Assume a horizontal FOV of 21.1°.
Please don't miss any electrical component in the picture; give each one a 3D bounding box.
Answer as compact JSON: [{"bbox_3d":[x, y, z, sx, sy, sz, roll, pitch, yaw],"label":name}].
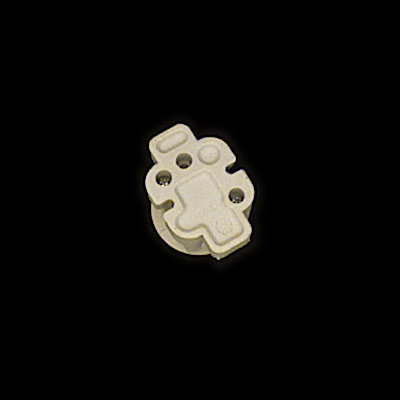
[{"bbox_3d":[0.000,0.000,0.635,0.058,0.078,0.056,-31,-12,-9],"label":"electrical component"}]
